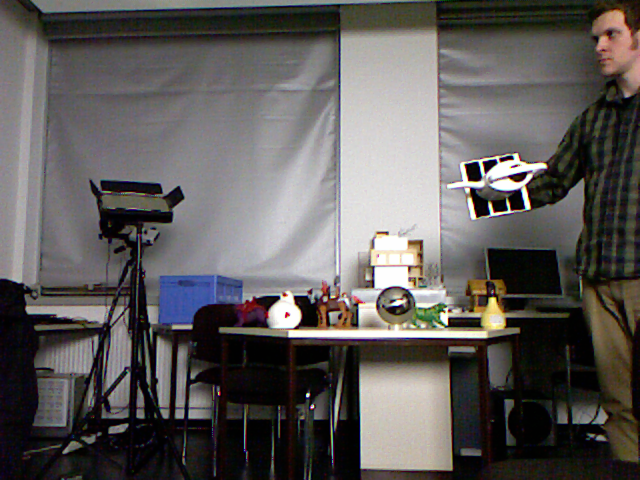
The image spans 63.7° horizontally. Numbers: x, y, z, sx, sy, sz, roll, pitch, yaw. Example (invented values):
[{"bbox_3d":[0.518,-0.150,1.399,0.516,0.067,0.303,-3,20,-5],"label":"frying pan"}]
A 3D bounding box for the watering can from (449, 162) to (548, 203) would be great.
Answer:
[{"bbox_3d":[0.573,-0.191,1.717,0.348,0.105,0.222,-11,-12,-4],"label":"watering can"}]
